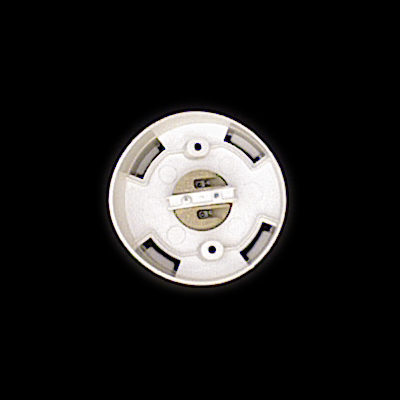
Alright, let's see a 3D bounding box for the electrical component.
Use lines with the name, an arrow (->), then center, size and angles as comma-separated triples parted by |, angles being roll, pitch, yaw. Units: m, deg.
electrical component -> 0.000, 0.000, 0.624 | 0.099, 0.099, 0.064 | 0, -6, 1
